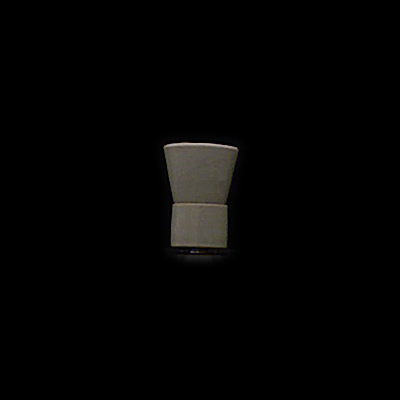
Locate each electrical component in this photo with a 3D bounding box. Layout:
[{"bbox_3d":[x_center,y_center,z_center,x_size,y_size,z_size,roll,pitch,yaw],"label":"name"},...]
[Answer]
[{"bbox_3d":[0.000,0.000,0.652,0.044,0.065,0.044,1,0,0],"label":"electrical component"}]
